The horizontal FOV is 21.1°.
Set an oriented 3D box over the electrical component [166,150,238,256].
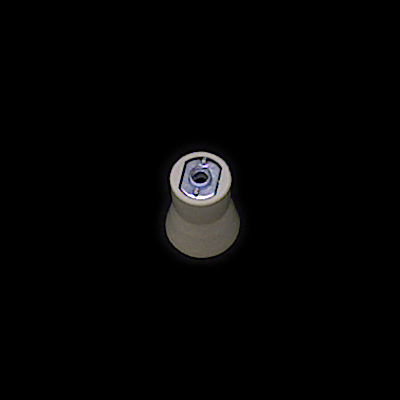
[{"bbox_3d":[0.000,0.000,0.625,0.044,0.044,0.065,0,-27,1],"label":"electrical component"}]
